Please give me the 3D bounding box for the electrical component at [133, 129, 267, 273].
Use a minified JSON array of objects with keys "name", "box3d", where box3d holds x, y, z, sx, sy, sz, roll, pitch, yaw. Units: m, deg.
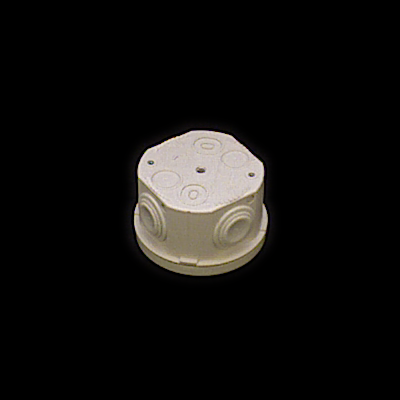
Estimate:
[{"name":"electrical component","box3d":[0.000,0.000,0.634,0.080,0.051,0.080,0,42,0]}]
